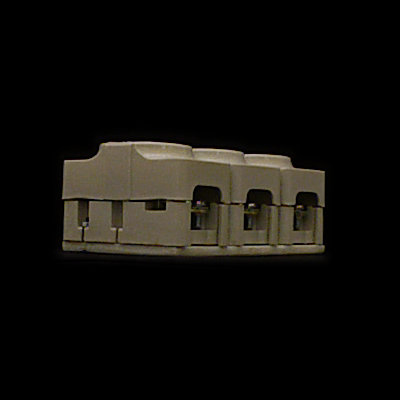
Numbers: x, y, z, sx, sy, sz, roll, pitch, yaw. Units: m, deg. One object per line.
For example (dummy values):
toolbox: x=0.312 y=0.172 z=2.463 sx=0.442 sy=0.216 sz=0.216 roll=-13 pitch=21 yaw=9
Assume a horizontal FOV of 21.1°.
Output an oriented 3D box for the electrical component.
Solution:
electrical component: x=0.000 y=0.000 z=0.657 sx=0.089 sy=0.062 sz=0.151 roll=0 pitch=-2 yaw=37
